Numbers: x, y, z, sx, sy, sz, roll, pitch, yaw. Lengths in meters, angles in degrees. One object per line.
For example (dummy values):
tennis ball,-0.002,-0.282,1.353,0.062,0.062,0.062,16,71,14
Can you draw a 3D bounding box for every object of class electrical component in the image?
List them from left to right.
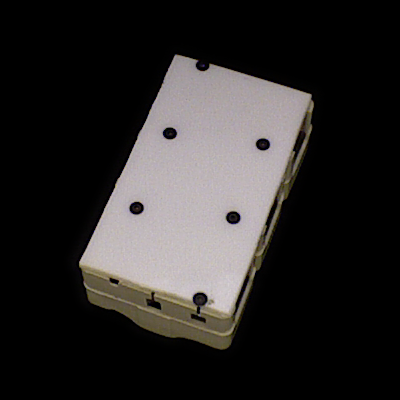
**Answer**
electrical component,0.000,0.000,0.633,0.089,0.149,0.062,19,-26,9
